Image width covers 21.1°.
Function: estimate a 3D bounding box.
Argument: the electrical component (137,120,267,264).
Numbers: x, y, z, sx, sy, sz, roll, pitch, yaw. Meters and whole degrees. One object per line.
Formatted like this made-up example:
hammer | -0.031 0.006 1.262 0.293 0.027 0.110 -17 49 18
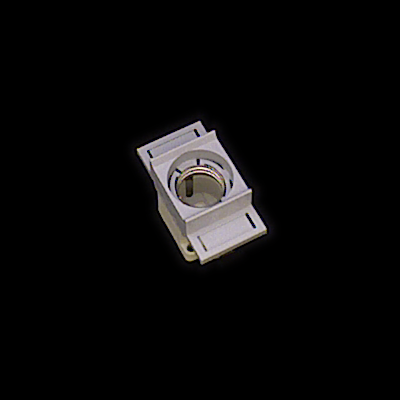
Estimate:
electrical component | 0.000 0.000 0.623 0.042 0.081 0.063 -24 -25 -13
